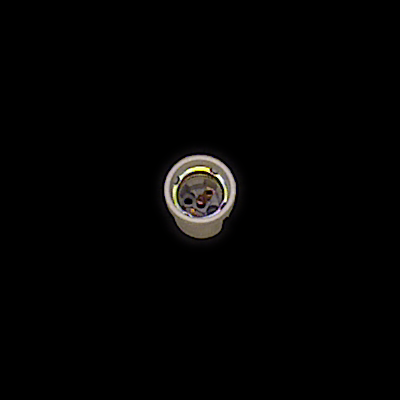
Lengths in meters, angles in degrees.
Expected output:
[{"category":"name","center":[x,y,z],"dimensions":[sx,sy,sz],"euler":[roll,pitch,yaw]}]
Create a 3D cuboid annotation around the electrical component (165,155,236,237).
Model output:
[{"category":"electrical component","center":[0.000,0.000,0.627],"dimensions":[0.040,0.040,0.046],"euler":[0,-17,0]}]
